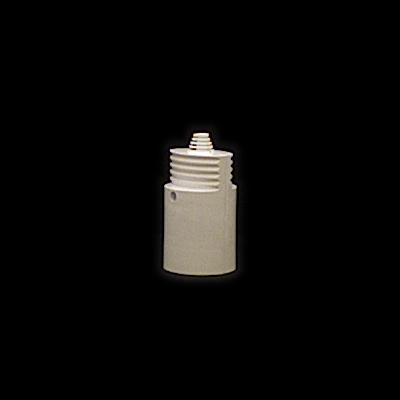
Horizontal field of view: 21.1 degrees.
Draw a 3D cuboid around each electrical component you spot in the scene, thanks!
[{"bbox_3d":[0.000,0.000,0.643,0.043,0.081,0.043,1,11,0],"label":"electrical component"}]
